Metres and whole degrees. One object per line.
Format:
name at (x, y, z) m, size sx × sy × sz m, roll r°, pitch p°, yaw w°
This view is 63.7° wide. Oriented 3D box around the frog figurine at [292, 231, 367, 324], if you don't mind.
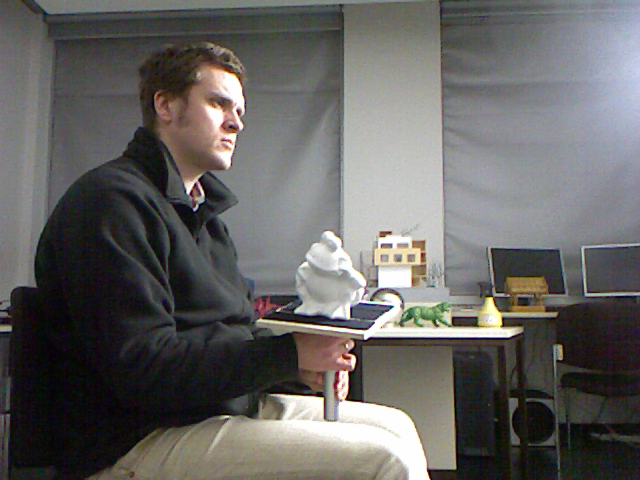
frog figurine at (0.015, 0.058, 0.913) m, size 0.138 × 0.158 × 0.124 m, roll 8°, pitch 13°, yaw 42°
